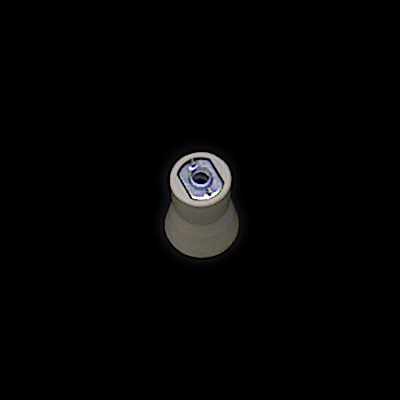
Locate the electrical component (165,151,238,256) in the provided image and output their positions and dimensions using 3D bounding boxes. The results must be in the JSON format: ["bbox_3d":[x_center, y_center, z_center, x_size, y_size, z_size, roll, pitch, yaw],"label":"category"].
[{"bbox_3d":[0.000,0.000,0.625,0.044,0.044,0.065,0,-26,1],"label":"electrical component"}]
